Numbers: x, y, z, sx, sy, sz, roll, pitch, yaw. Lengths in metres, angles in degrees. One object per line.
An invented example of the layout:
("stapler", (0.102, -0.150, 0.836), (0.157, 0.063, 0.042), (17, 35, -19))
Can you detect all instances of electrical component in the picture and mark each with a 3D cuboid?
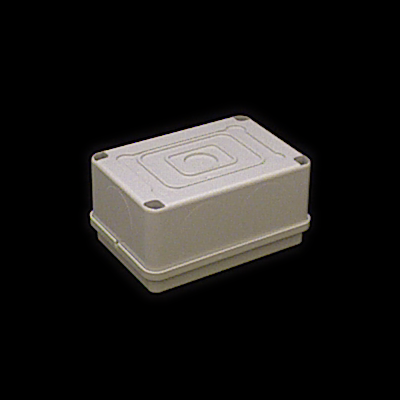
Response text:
("electrical component", (0.000, 0.000, 0.635), (0.113, 0.058, 0.077), (-18, 36, -27))
